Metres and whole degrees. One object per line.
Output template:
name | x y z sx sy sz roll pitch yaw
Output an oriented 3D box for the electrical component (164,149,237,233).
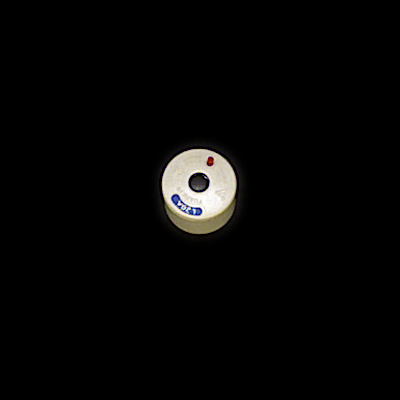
electrical component | 0.000 0.000 0.618 0.040 0.040 0.078 0 -18 0
